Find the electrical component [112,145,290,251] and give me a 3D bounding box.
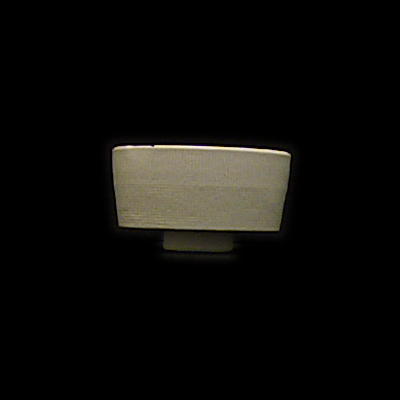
[{"bbox_3d":[0.000,0.000,0.652,0.108,0.060,0.108,2,0,1],"label":"electrical component"}]
